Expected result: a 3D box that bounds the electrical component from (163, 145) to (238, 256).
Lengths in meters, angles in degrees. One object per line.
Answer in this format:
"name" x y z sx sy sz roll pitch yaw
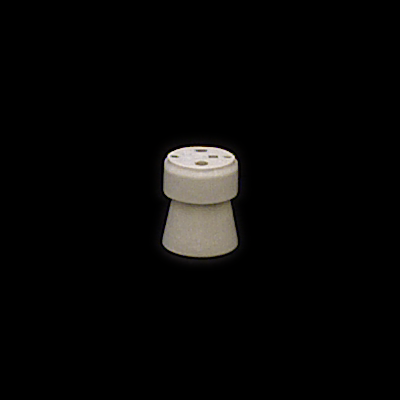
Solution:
"electrical component" 0.000 0.000 0.638 0.045 0.056 0.044 1 22 0
